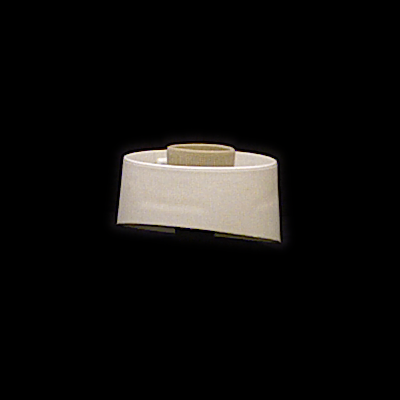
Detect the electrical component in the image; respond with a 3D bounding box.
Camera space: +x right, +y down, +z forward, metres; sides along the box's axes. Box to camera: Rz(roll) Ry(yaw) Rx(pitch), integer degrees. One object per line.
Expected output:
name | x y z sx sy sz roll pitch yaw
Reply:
electrical component | 0.000 0.000 0.643 0.099 0.064 0.098 1 10 0
